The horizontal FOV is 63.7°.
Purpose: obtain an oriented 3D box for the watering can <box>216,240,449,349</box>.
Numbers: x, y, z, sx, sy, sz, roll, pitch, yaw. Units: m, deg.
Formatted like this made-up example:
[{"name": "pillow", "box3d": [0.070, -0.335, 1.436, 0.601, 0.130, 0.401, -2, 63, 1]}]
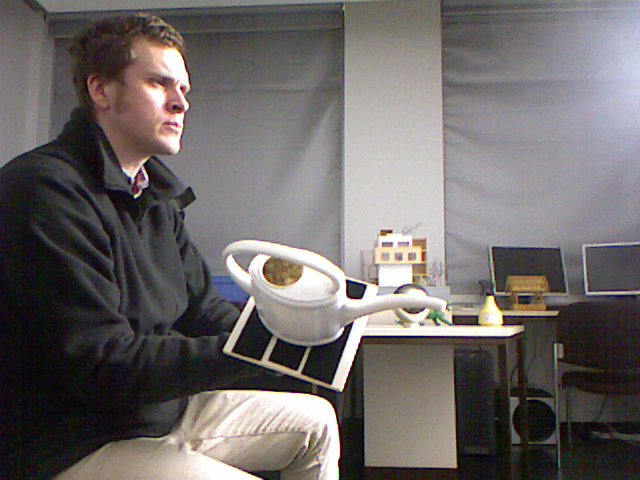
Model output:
[{"name": "watering can", "box3d": [0.006, 0.096, 0.780, 0.350, 0.106, 0.220, 16, -34, 14]}]
